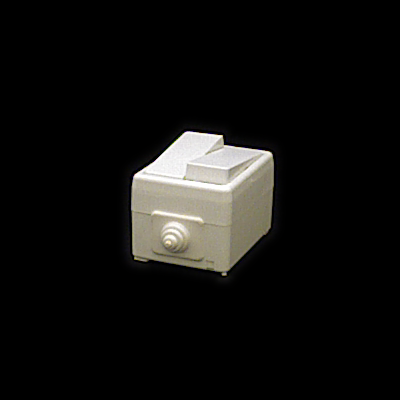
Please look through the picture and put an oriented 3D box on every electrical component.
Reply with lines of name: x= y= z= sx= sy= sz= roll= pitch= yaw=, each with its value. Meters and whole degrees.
electrical component: x=0.000 y=0.000 z=0.637 sx=0.061 sy=0.061 sz=0.095 roll=9 pitch=22 yaw=21
